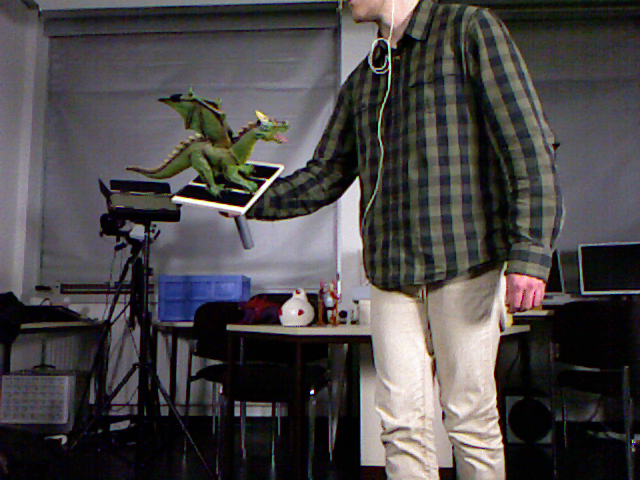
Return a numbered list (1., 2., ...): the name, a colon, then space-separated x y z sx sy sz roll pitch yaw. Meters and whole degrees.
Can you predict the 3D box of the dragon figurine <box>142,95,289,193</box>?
1. dragon figurine: -0.268 -0.230 1.191 0.410 0.237 0.125 1 43 12
